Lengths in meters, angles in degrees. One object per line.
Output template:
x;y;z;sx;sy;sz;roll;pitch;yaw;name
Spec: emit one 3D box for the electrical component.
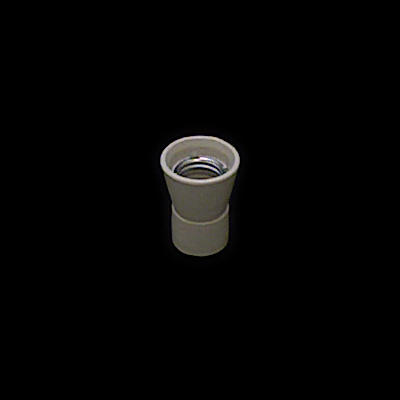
0.000;0.000;0.631;0.044;0.066;0.044;0;41;0;electrical component
